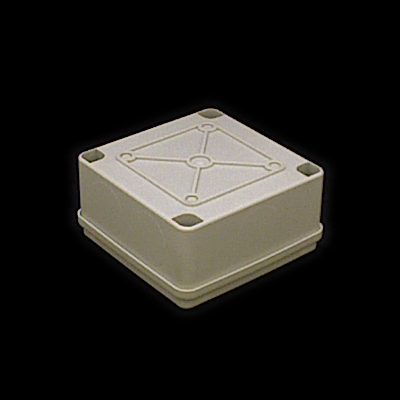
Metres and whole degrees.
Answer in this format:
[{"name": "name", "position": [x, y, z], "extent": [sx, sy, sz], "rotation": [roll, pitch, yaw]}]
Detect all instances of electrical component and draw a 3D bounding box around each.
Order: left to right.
[{"name": "electrical component", "position": [0.000, 0.000, 0.632], "extent": [0.108, 0.057, 0.107], "rotation": [-23, 39, -33]}]
